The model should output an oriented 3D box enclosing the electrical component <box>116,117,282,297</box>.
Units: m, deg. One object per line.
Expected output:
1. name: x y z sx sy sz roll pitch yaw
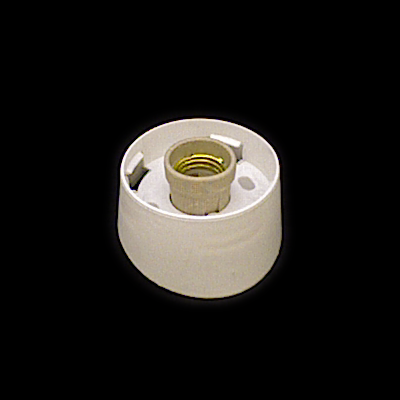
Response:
1. electrical component: 0.000 0.000 0.630 0.099 0.065 0.098 1 42 0
